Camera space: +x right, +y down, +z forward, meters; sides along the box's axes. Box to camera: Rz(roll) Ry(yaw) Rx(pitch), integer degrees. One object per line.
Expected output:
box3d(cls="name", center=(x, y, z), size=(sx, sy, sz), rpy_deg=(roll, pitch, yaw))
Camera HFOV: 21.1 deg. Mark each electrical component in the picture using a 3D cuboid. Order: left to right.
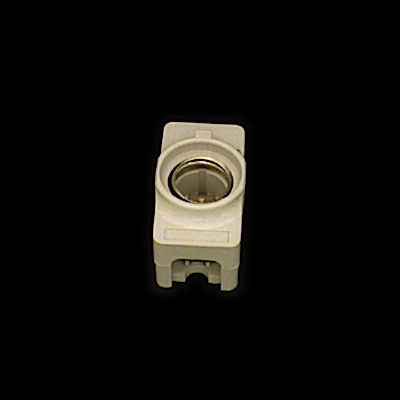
box3d(cls="electrical component", center=(0.000, 0.000, 0.637), size=(0.050, 0.089, 0.056), rpy_deg=(2, -37, 1))
